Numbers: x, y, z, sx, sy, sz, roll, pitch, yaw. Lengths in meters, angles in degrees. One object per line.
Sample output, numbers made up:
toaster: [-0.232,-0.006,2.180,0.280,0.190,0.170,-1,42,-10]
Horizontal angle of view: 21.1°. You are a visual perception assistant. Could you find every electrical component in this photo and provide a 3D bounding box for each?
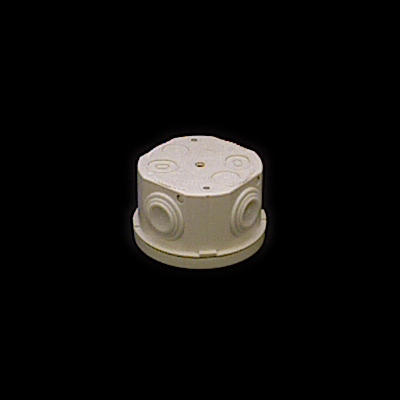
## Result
electrical component: [0.000,0.000,0.638,0.080,0.051,0.079,1,31,0]
